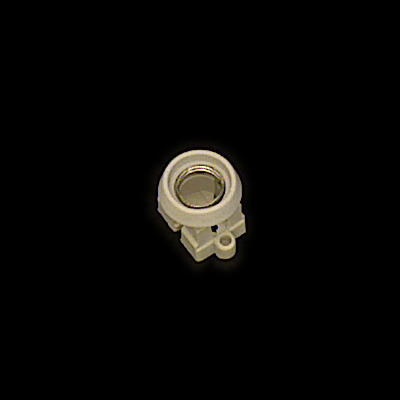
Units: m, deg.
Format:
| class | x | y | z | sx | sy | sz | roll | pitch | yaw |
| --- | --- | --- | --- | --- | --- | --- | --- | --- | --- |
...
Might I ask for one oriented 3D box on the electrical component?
| class | x | y | z | sx | sy | sz | roll | pitch | yaw |
| --- | --- | --- | --- | --- | --- | --- | --- | --- | --- |
| electrical component | 0.000 | 0.000 | 0.637 | 0.049 | 0.066 | 0.055 | -33 | -22 | -17 |
